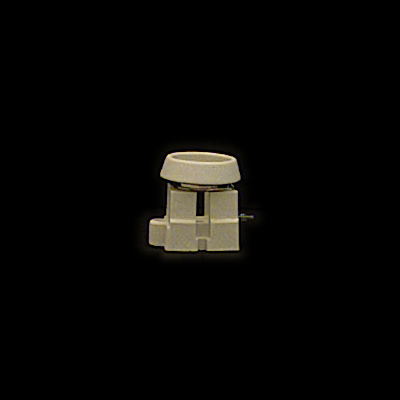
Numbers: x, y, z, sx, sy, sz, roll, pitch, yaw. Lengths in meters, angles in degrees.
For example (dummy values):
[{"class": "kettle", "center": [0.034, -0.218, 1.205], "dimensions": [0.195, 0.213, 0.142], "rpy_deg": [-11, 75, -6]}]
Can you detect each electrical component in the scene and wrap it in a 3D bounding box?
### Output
[{"class": "electrical component", "center": [0.000, 0.000, 0.653], "dimensions": [0.067, 0.056, 0.048], "rpy_deg": [0, 14, -7]}]
